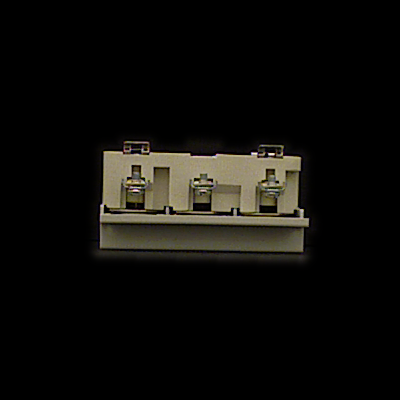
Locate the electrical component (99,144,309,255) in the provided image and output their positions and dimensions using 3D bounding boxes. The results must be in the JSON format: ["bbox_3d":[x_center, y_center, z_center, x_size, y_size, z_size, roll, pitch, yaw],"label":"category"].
[{"bbox_3d":[0.000,0.000,0.660,0.122,0.063,0.078,2,0,-5],"label":"electrical component"}]
